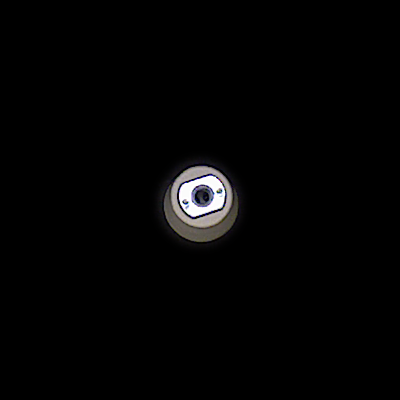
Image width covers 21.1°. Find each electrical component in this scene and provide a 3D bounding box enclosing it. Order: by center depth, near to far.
[{"bbox_3d":[0.000,0.000,0.625,0.044,0.044,0.065,0,-5,0],"label":"electrical component"}]
